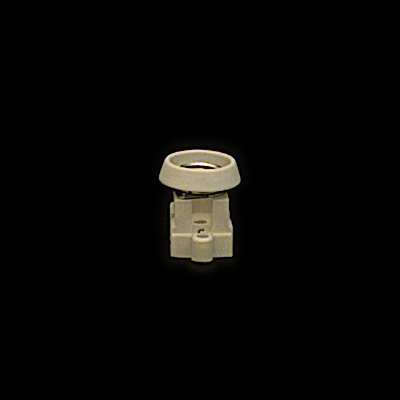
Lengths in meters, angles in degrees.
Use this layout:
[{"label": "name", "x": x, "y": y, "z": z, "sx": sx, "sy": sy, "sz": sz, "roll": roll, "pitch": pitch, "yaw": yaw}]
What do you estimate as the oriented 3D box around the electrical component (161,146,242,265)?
[{"label": "electrical component", "x": 0.000, "y": 0.000, "z": 0.647, "sx": 0.048, "sy": 0.056, "sz": 0.065, "roll": 1, "pitch": 22, "yaw": -5}]
